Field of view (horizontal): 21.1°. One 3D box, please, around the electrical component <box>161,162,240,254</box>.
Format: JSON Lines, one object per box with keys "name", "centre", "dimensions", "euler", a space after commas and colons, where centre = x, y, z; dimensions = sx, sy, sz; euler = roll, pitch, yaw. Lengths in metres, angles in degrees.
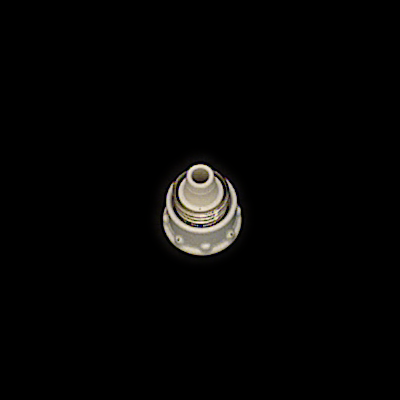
{"name": "electrical component", "centre": [0.000, 0.000, 0.634], "dimensions": [0.048, 0.048, 0.062], "euler": [0, -28, 0]}
